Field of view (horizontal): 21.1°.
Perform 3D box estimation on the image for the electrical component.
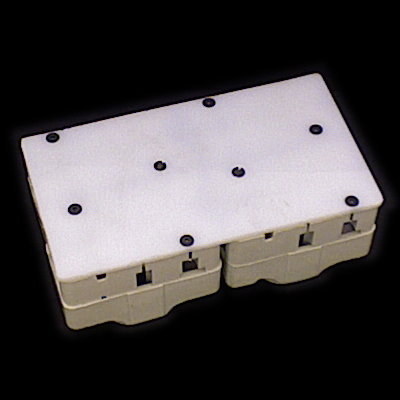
[{"bbox_3d":[0.000,0.000,0.627,0.186,0.105,0.060,-13,-36,-11],"label":"electrical component"}]
